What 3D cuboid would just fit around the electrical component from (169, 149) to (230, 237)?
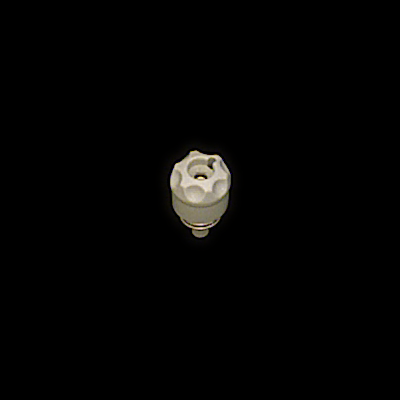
[{"bbox_3d":[0.000,0.000,0.636,0.035,0.035,0.062,0,-37,0],"label":"electrical component"}]
